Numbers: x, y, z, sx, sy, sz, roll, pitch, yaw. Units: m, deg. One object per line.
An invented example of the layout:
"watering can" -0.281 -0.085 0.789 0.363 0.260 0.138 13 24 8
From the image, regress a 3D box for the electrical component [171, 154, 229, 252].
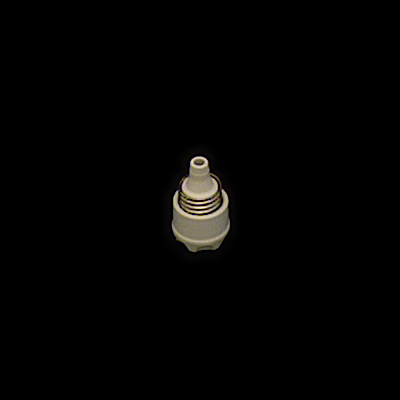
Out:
"electrical component" 0.000 0.000 0.641 0.035 0.062 0.035 -1 42 1
